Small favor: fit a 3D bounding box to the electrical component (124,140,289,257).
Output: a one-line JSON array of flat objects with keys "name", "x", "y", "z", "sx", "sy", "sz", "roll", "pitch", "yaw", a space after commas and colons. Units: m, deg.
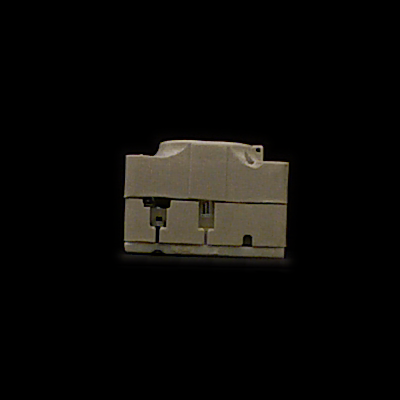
[{"name": "electrical component", "x": 0.000, "y": 0.000, "z": 0.657, "sx": 0.089, "sy": 0.062, "sz": 0.150, "roll": 2, "pitch": 0, "yaw": -3}]
